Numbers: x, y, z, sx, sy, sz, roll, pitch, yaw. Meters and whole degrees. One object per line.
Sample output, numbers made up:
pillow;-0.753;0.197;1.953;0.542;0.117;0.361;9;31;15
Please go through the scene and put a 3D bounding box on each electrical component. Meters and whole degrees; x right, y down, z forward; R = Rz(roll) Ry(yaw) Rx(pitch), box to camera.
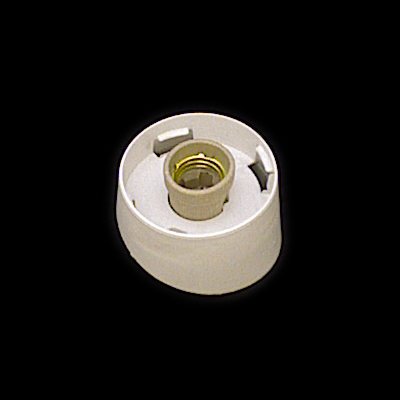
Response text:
electrical component;0.000;0.000;0.626;0.099;0.098;0.064;0;-37;-1
